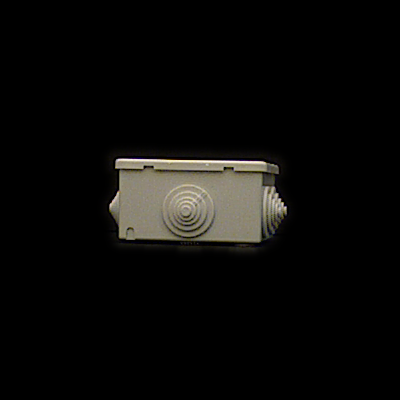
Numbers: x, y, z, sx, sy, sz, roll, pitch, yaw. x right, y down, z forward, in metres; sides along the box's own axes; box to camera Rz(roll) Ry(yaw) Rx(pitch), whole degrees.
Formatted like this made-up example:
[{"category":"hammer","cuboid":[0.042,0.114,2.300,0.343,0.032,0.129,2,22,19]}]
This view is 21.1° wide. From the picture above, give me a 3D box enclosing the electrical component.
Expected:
[{"category":"electrical component","cuboid":[0.000,0.000,0.657,0.099,0.048,0.100,1,1,9]}]
